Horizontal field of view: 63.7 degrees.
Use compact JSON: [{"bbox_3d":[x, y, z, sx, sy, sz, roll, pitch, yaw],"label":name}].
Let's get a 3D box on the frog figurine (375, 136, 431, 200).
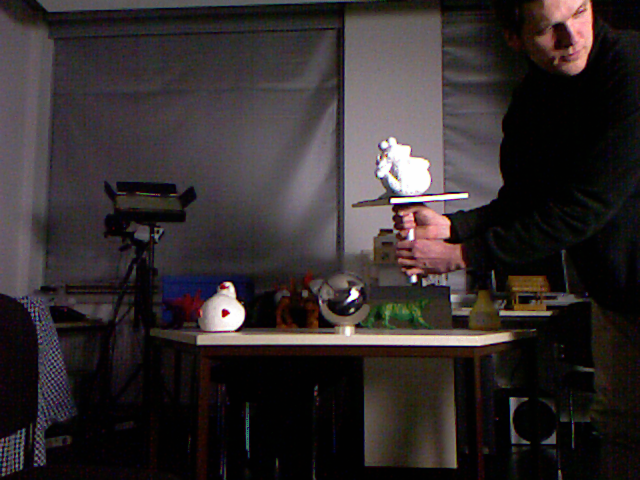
[{"bbox_3d":[0.202,-0.180,1.277,0.137,0.159,0.123,-7,7,1],"label":"frog figurine"}]
